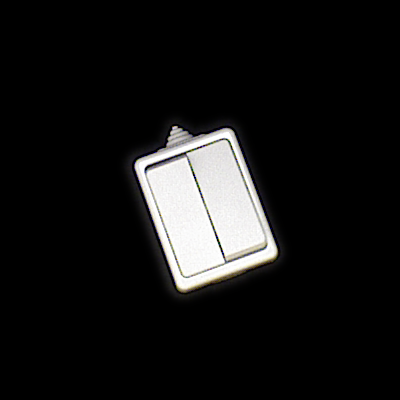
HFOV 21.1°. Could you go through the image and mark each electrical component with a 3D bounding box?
[{"bbox_3d":[0.000,0.000,0.627,0.062,0.096,0.061,-19,-7,-2],"label":"electrical component"}]
